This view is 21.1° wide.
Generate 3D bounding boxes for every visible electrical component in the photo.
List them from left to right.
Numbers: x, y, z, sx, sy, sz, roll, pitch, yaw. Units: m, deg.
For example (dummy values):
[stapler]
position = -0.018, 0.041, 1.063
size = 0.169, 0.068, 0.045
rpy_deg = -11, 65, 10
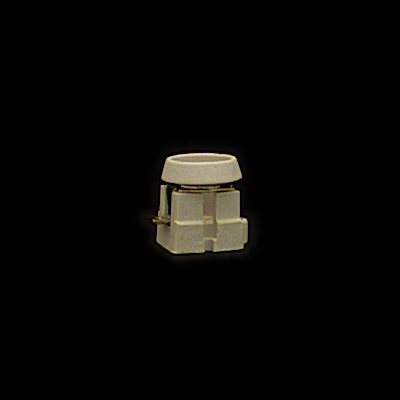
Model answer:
[electrical component]
position = 0.000, 0.000, 0.650
size = 0.067, 0.056, 0.048
rpy_deg = -3, 11, -22
